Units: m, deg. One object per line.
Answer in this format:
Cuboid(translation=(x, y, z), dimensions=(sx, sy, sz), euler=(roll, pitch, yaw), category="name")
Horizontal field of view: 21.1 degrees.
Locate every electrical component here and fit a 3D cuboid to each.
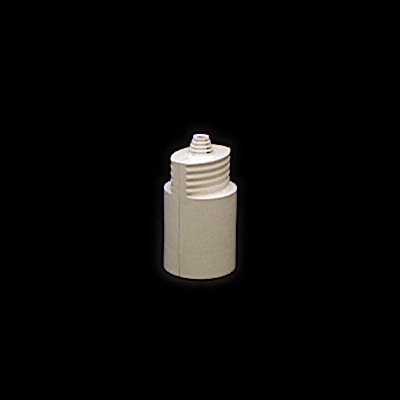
Cuboid(translation=(0.000, 0.000, 0.635), dimensions=(0.043, 0.082, 0.042), euler=(1, 21, 0), category="electrical component")
